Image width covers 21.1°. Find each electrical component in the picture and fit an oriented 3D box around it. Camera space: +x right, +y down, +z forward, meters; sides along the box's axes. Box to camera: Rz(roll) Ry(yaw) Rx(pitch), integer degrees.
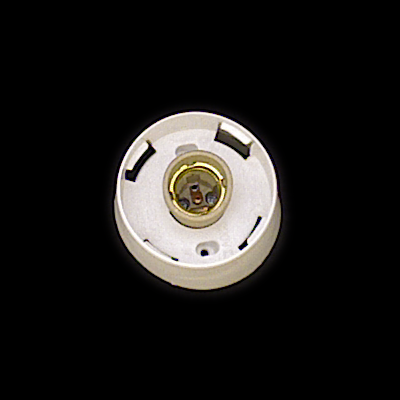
[{"bbox_3d":[0.000,0.000,0.624,0.099,0.099,0.063,0,-17,-1],"label":"electrical component"}]
